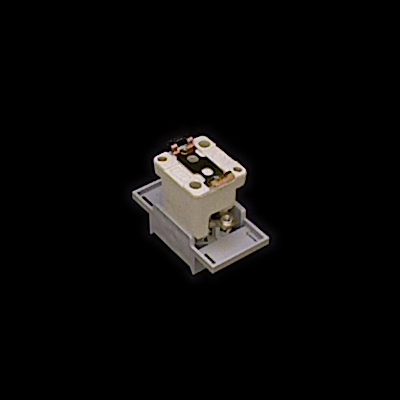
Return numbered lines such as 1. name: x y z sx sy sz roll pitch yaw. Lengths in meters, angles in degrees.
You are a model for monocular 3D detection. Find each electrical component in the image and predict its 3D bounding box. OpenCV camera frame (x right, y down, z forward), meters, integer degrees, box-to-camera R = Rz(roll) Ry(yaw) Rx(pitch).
1. electrical component: 0.000 0.000 0.630 0.042 0.064 0.080 -27 49 -28
